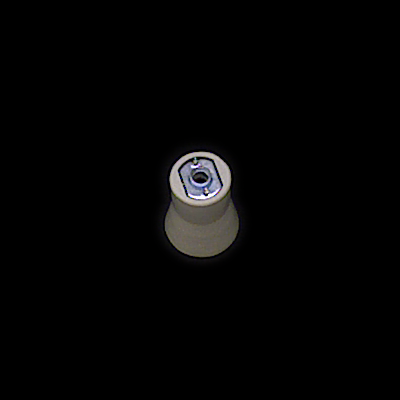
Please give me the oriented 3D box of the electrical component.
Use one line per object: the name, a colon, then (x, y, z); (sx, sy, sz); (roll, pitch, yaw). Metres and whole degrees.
electrical component: (0.000, 0.000, 0.625); (0.044, 0.044, 0.065); (0, -27, 1)
